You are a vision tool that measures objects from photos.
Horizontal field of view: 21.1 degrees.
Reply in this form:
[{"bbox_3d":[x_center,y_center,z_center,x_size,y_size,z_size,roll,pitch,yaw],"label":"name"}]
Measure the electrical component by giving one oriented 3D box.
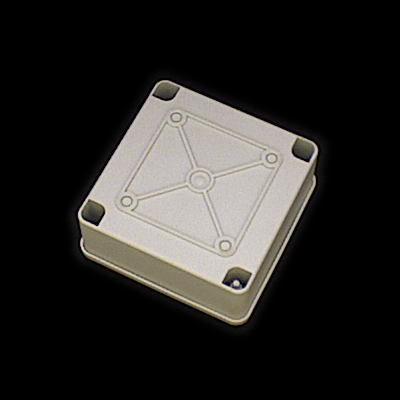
[{"bbox_3d":[0.000,0.000,0.627,0.108,0.109,0.056,24,-24,11],"label":"electrical component"}]
